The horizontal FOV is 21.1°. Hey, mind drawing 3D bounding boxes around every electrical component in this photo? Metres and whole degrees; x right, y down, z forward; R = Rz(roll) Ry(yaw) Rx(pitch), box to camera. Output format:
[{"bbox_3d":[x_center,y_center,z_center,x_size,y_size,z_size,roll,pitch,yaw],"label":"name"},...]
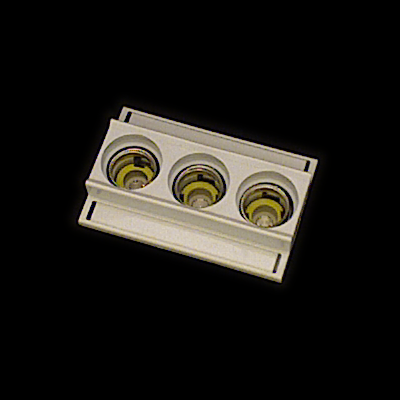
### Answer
[{"bbox_3d":[0.000,0.000,0.637,0.121,0.078,0.063,16,-24,8],"label":"electrical component"}]
